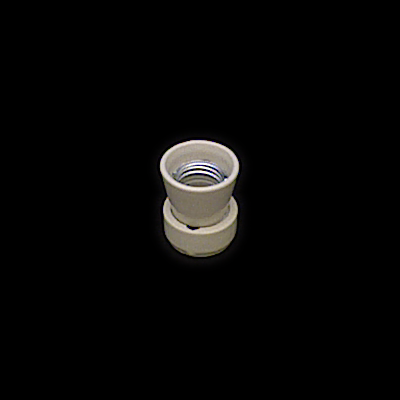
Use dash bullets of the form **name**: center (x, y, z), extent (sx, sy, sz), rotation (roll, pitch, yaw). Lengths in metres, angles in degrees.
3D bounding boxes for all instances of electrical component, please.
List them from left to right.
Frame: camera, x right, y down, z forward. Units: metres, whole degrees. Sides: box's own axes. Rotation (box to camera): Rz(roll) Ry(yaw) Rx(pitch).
- **electrical component**: center (0.000, 0.000, 0.631), extent (0.045, 0.055, 0.044), rotation (0, 41, 0)
